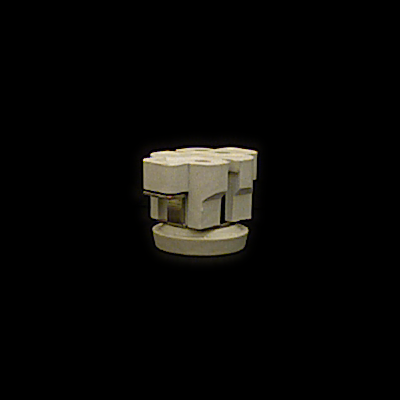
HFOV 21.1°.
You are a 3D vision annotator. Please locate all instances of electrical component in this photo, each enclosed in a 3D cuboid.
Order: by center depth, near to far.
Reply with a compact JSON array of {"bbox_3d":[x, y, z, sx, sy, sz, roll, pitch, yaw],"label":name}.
[{"bbox_3d":[0.000,0.000,0.649,0.057,0.057,0.079,12,17,41],"label":"electrical component"}]
